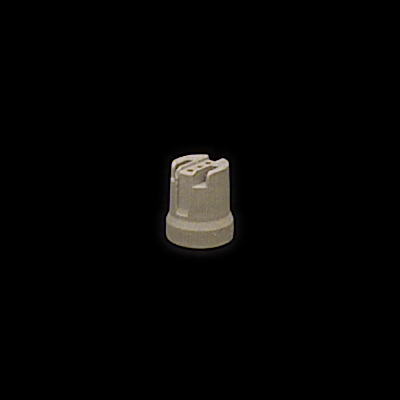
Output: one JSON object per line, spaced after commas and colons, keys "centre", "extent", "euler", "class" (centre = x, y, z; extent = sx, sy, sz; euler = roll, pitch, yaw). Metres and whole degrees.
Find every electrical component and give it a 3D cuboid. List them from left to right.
{"centre": [0.000, 0.000, 0.641], "extent": [0.040, 0.046, 0.040], "euler": [1, 21, 0], "class": "electrical component"}
